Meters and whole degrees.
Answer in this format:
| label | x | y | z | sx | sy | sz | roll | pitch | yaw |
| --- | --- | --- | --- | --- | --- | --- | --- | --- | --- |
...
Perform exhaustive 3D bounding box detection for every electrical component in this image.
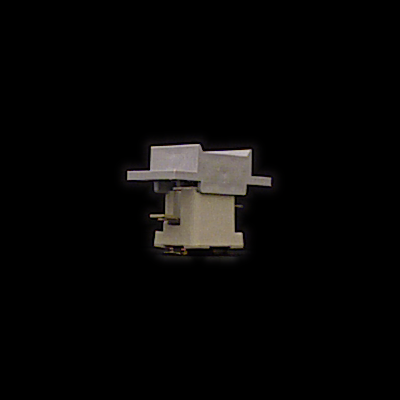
| label | x | y | z | sx | sy | sz | roll | pitch | yaw |
| --- | --- | --- | --- | --- | --- | --- | --- | --- | --- |
| electrical component | 0.000 | 0.000 | 0.647 | 0.081 | 0.064 | 0.042 | 2 | 1 | -44 |
